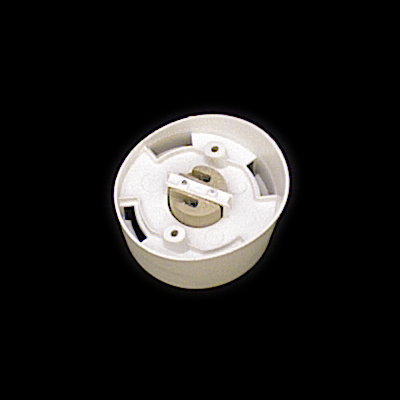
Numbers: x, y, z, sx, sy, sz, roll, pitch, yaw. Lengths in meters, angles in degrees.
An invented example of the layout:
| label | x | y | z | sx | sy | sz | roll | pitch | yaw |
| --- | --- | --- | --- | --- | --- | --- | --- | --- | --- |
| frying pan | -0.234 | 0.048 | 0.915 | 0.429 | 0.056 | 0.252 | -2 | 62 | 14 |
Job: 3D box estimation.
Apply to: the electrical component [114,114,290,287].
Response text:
| label | x | y | z | sx | sy | sz | roll | pitch | yaw |
| --- | --- | --- | --- | --- | --- | --- | --- | --- | --- |
| electrical component | 0.000 | 0.000 | 0.625 | 0.099 | 0.099 | 0.064 | 0 | -28 | -1 |
